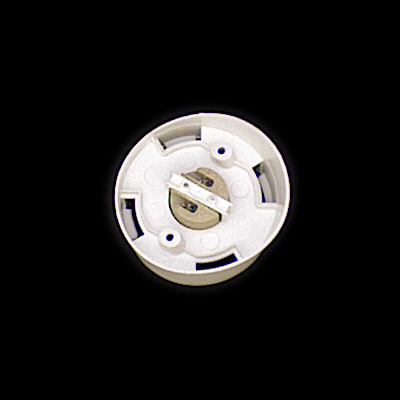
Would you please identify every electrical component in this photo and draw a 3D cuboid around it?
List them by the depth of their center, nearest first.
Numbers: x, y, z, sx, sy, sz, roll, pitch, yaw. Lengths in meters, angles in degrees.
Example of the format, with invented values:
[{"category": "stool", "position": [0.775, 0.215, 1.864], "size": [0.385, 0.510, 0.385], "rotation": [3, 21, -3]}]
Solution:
[{"category": "electrical component", "position": [0.000, 0.000, 0.624], "size": [0.099, 0.099, 0.064], "rotation": [0, -17, -1]}]
